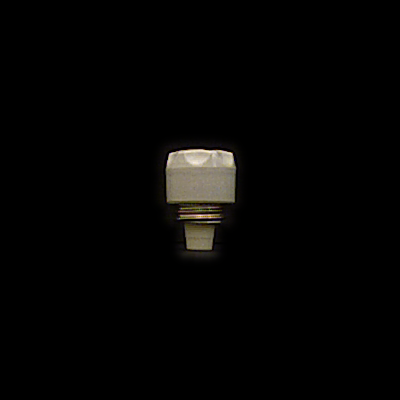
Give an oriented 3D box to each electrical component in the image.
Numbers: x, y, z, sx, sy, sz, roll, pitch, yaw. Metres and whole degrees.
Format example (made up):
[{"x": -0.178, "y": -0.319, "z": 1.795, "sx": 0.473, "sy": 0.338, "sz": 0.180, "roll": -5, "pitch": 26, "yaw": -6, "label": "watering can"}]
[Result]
[{"x": -0.001, "y": 0.000, "z": 0.657, "sx": 0.043, "sy": 0.062, "sz": 0.043, "roll": 1, "pitch": 1, "yaw": 1, "label": "electrical component"}]
